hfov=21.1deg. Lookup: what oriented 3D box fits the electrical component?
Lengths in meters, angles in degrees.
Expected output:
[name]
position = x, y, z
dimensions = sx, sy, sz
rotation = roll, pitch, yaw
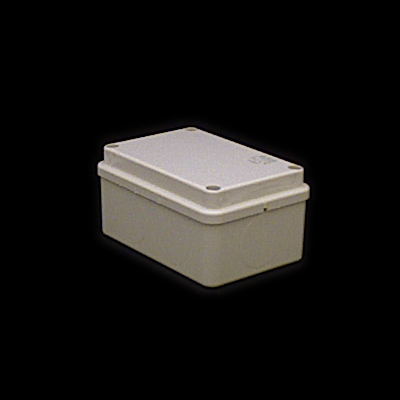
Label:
[electrical component]
position = 0.000, 0.000, 0.640
dimensions = 0.078, 0.058, 0.112
rotation = -15, 26, -37
